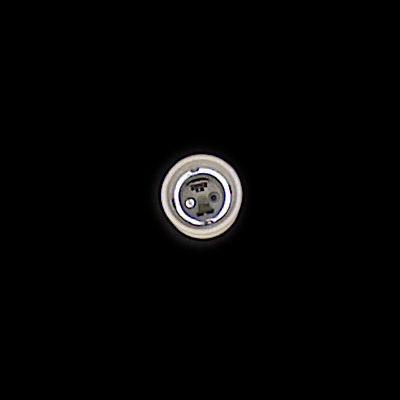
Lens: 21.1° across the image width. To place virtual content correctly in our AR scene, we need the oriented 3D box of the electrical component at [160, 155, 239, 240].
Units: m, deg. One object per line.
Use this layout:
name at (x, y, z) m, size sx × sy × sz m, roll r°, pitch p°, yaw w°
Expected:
electrical component at (0.000, 0.000, 0.629) m, size 0.045 × 0.045 × 0.055 m, roll 0°, pitch -7°, yaw 0°
